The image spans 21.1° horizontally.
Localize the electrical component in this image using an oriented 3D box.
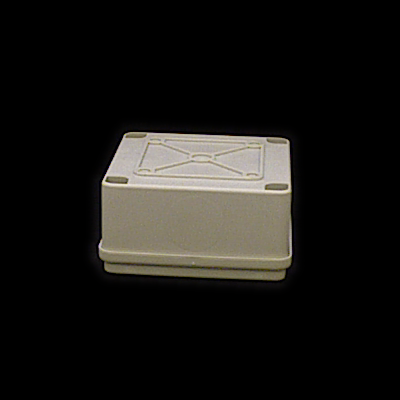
[{"bbox_3d":[0.000,0.000,0.642,0.109,0.057,0.107,3,20,3],"label":"electrical component"}]
